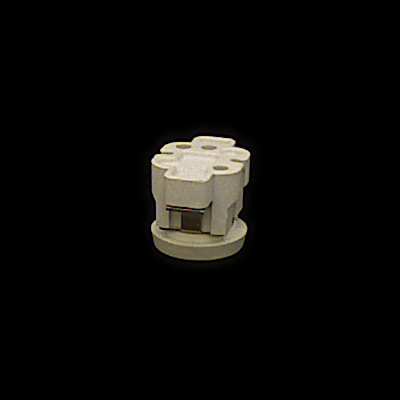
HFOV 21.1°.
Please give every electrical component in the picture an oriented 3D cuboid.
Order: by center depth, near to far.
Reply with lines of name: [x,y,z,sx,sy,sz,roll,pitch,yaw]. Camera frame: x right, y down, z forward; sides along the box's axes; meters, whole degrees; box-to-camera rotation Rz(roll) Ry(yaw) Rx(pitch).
electrical component: [0.000,0.000,0.645,0.057,0.057,0.078,6,24,11]
